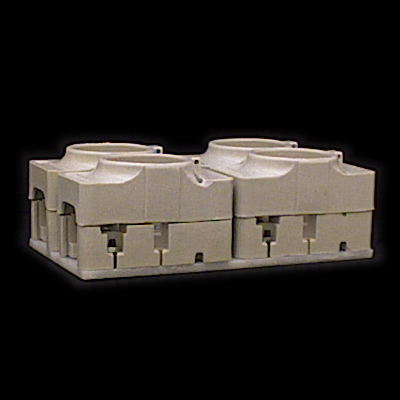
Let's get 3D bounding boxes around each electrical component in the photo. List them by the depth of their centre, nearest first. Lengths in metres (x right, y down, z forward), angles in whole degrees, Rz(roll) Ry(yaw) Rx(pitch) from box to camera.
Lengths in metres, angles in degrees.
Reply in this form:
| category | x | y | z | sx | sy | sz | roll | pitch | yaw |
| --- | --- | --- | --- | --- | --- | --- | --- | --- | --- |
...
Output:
| category | x | y | z | sx | sy | sz | roll | pitch | yaw |
| --- | --- | --- | --- | --- | --- | --- | --- | --- | --- |
| electrical component | 0.000 | 0.000 | 0.645 | 0.186 | 0.060 | 0.104 | -3 | 11 | -24 |
